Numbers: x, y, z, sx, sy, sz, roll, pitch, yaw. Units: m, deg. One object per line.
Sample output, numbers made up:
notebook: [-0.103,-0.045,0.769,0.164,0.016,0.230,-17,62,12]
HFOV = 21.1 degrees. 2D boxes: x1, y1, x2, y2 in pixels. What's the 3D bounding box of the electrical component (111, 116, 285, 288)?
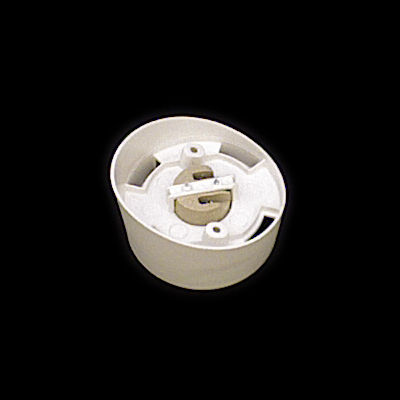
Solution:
electrical component: [0.000,0.000,0.625,0.099,0.098,0.064,0,-37,0]
